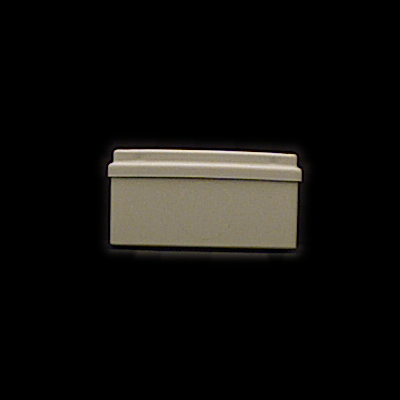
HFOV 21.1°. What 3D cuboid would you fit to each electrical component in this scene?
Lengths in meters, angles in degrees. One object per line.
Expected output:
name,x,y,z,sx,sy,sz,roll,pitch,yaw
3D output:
electrical component,0.000,0.000,0.648,0.109,0.056,0.108,1,1,-4
